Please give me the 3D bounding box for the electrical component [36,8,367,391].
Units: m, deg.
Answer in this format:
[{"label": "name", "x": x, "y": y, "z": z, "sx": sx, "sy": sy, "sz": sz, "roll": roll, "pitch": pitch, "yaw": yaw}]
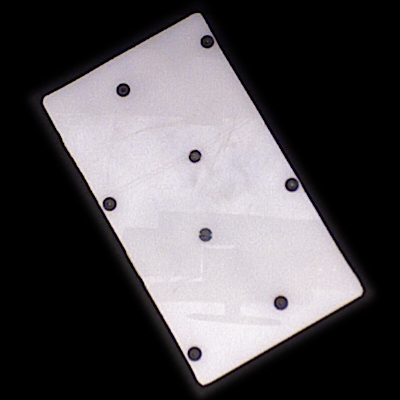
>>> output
[{"label": "electrical component", "x": 0.000, "y": 0.000, "z": 0.626, "sx": 0.106, "sy": 0.186, "sz": 0.060, "roll": -30, "pitch": -6, "yaw": -3}]
